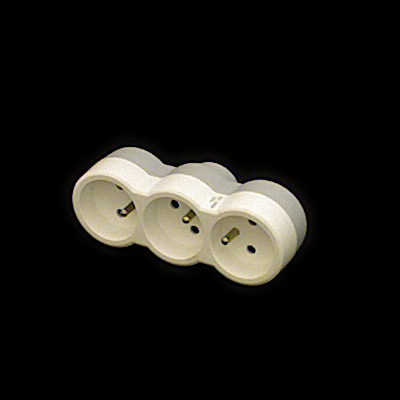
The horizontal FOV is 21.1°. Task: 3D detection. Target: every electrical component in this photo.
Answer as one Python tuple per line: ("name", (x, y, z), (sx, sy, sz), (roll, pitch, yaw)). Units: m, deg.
("electrical component", (0.000, 0.000, 0.646), (0.137, 0.053, 0.073), (15, 33, 21))
